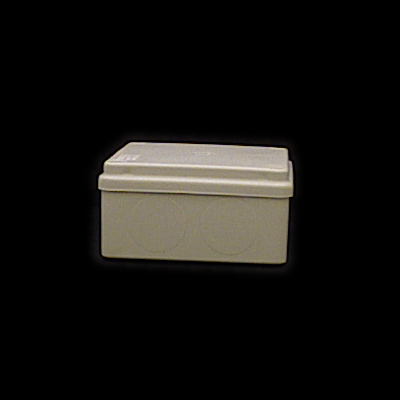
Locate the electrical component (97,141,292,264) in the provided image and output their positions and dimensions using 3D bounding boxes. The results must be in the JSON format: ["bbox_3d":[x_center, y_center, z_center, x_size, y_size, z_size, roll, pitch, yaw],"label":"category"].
[{"bbox_3d":[0.000,0.000,0.646,0.109,0.056,0.108,3,10,4],"label":"electrical component"}]
